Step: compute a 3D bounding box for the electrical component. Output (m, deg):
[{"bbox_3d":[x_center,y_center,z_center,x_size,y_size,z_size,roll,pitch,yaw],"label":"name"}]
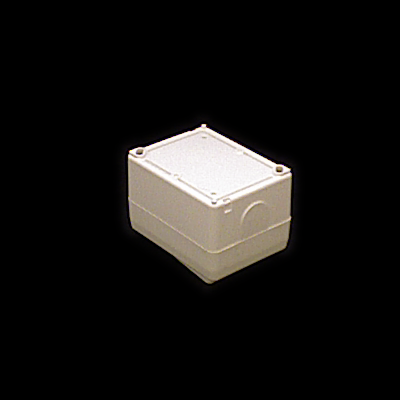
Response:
[{"bbox_3d":[0.000,0.000,0.637,0.061,0.061,0.095,-23,38,-34],"label":"electrical component"}]
